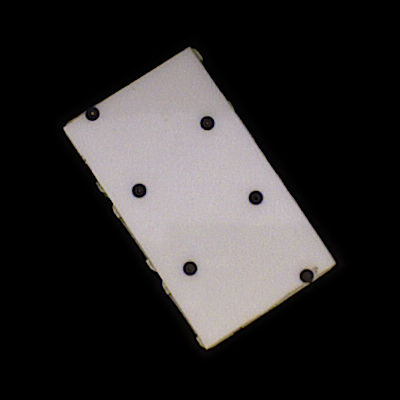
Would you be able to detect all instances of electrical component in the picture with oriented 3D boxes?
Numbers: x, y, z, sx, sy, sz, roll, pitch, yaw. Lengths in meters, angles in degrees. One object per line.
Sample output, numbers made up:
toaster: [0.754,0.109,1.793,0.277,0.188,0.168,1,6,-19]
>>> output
electrical component: [0.000,0.000,0.631,0.090,0.150,0.061,-33,-5,-4]
